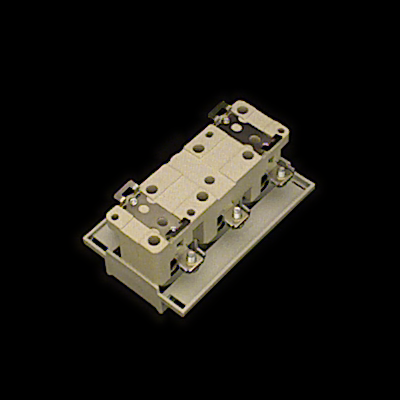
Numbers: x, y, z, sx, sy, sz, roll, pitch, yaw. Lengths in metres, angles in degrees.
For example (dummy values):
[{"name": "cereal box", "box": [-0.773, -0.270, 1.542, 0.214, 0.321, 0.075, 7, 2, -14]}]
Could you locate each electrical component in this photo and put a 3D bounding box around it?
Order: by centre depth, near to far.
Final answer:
[{"name": "electrical component", "box": [0.000, 0.000, 0.636, 0.078, 0.063, 0.122, 34, 60, 24]}]
